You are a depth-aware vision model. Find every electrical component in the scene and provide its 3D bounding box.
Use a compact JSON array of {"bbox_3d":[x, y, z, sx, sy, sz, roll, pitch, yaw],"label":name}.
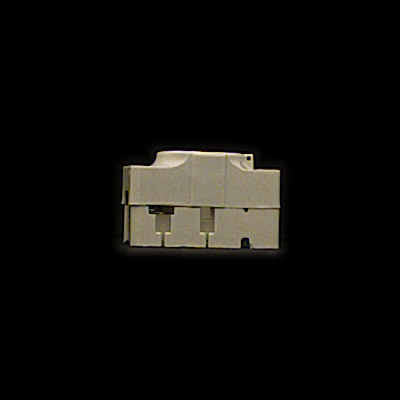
[{"bbox_3d":[0.000,0.000,0.656,0.090,0.056,0.050,1,1,-12],"label":"electrical component"}]
